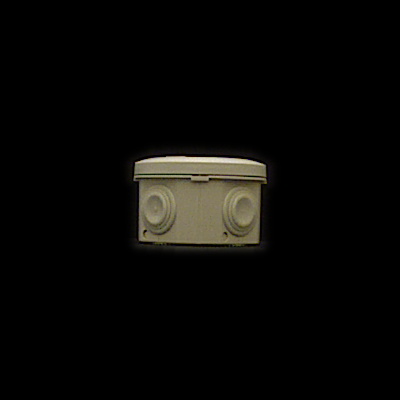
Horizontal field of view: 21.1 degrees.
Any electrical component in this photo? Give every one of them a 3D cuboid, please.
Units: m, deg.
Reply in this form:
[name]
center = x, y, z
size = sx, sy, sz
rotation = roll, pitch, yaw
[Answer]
[electrical component]
center = 0.000, 0.000, 0.651
size = 0.080, 0.051, 0.080
rotation = 1, 0, 0
